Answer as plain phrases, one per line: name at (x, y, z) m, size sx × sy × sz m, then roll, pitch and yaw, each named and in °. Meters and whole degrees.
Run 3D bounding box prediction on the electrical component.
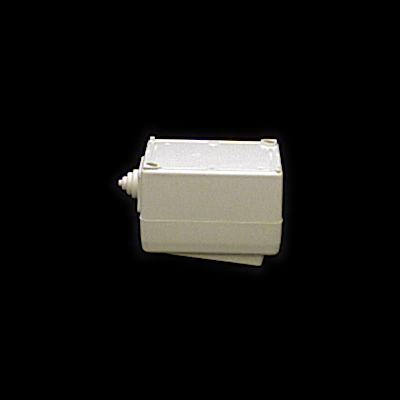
electrical component at (0.000, 0.000, 0.637) m, size 0.096 × 0.061 × 0.061 m, roll 2°, pitch 21°, yaw 0°
